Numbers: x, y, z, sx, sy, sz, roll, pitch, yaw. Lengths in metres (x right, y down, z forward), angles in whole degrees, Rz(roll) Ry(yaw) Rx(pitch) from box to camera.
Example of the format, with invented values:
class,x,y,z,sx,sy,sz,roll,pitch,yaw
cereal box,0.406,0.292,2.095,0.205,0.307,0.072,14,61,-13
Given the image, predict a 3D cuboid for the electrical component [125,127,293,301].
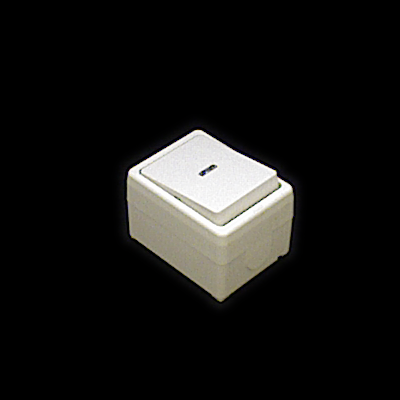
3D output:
class,x,y,z,sx,sy,sz,roll,pitch,yaw
electrical component,0.000,0.000,0.632,0.095,0.061,0.061,34,51,31
